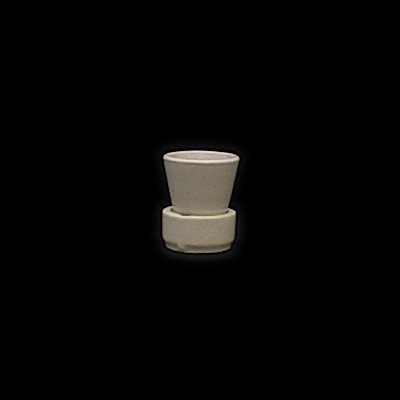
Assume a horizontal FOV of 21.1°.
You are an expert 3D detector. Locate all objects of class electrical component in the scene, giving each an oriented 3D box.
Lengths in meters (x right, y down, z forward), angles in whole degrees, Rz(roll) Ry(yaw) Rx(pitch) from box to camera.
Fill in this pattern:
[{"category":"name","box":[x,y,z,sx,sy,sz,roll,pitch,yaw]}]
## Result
[{"category":"electrical component","box":[0.000,0.000,0.645,0.045,0.055,0.044,2,12,0]}]
